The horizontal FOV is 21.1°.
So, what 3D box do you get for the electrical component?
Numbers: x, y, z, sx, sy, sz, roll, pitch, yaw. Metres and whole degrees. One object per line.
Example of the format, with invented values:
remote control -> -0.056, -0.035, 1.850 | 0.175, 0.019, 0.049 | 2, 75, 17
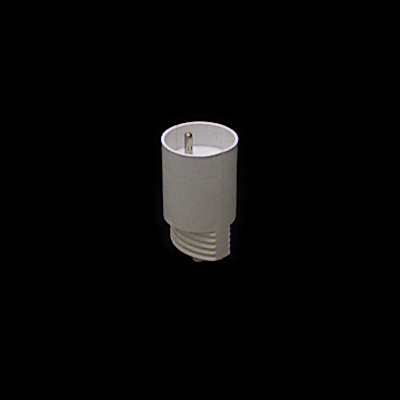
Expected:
electrical component -> 0.000, 0.000, 0.628 | 0.043, 0.082, 0.042 | 1, 31, 0
